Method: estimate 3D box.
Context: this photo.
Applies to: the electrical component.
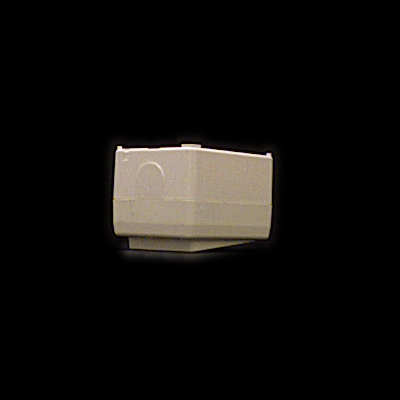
[{"bbox_3d":[0.000,0.000,0.650,0.061,0.061,0.096,2,0,39],"label":"electrical component"}]
